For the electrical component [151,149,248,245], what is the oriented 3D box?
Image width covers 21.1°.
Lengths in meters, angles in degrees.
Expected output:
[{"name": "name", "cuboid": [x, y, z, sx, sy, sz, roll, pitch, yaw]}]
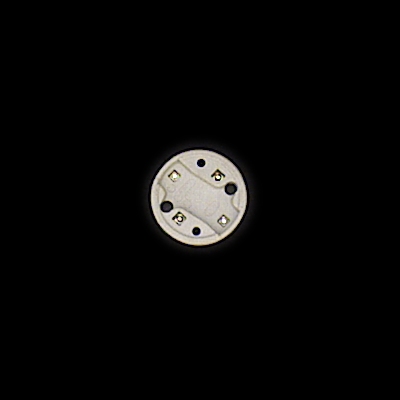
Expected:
[{"name": "electrical component", "cuboid": [0.000, 0.000, 0.636, 0.055, 0.055, 0.047, 0, -7, 0]}]
